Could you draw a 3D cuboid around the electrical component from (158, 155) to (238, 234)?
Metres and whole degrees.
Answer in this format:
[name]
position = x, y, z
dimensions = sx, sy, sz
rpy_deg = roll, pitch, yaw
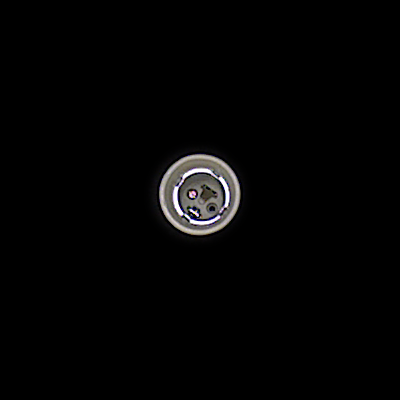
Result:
[electrical component]
position = 0.000, 0.000, 0.625
dimensions = 0.044, 0.044, 0.065
rpy_deg = 0, -7, 2
